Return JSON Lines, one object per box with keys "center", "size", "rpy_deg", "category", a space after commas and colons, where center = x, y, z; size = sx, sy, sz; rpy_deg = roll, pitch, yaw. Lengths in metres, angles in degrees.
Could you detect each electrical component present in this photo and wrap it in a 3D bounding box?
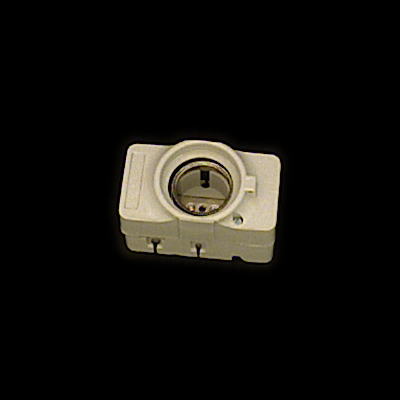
{"center": [0.000, 0.000, 0.636], "size": [0.089, 0.050, 0.055], "rpy_deg": [4, -26, 2], "category": "electrical component"}
